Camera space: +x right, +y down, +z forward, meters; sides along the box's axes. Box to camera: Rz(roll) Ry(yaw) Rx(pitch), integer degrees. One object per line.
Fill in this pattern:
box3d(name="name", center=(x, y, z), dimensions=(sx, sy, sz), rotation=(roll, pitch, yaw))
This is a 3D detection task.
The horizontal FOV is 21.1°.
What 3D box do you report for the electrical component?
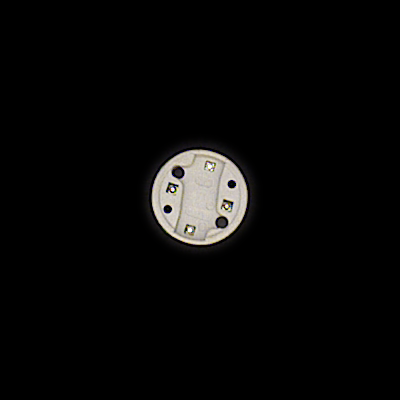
box3d(name="electrical component", center=(0.000, 0.000, 0.636), dimensions=(0.055, 0.056, 0.047), rotation=(0, -7, 0))
